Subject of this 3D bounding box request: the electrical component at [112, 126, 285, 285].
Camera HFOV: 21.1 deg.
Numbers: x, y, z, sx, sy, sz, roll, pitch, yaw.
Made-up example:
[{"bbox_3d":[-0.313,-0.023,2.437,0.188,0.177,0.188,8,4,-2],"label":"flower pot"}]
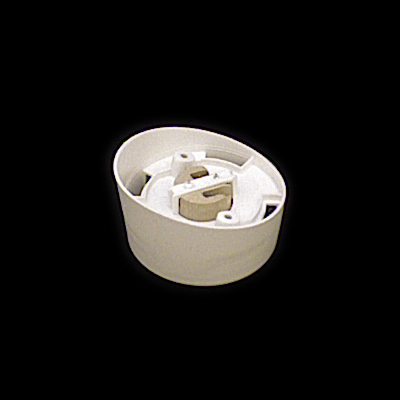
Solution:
[{"bbox_3d":[0.000,0.000,0.628,0.099,0.064,0.098,0,42,0],"label":"electrical component"}]
